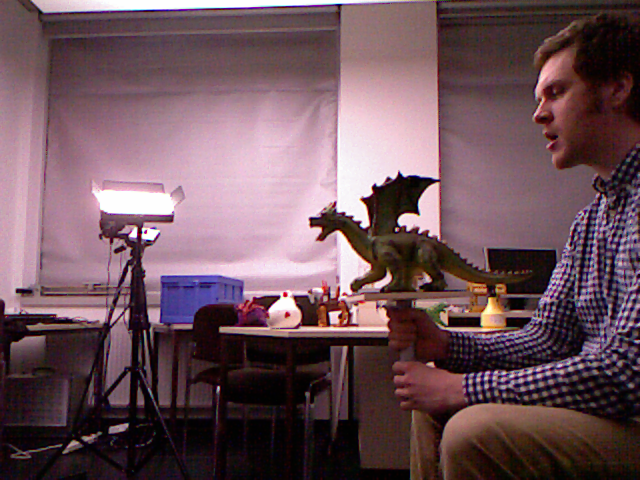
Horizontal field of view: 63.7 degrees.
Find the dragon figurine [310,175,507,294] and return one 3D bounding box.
[{"bbox_3d":[0.180,-0.015,1.049,0.411,0.243,0.122,-3,-2,-12],"label":"dragon figurine"}]
